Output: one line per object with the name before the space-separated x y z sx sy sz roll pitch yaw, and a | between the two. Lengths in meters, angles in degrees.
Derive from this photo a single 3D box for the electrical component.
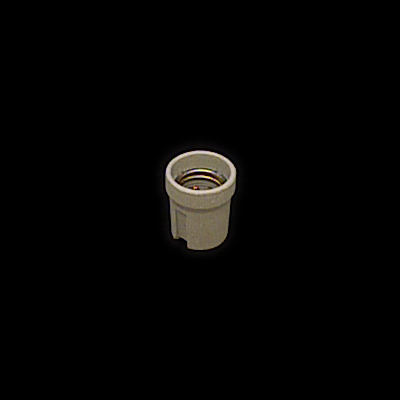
electrical component | 0.000 0.000 0.634 0.040 0.047 0.039 1 42 0
